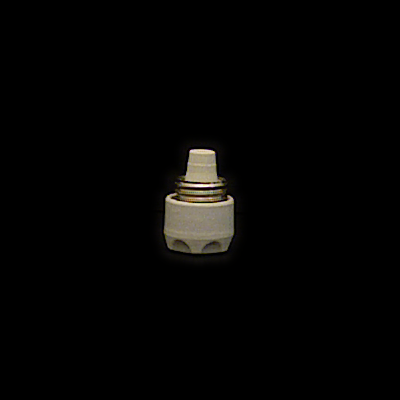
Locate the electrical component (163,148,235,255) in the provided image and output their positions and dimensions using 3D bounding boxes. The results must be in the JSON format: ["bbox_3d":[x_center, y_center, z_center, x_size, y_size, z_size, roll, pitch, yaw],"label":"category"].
[{"bbox_3d":[0.000,0.000,0.651,0.043,0.062,0.043,2,11,0],"label":"electrical component"}]
